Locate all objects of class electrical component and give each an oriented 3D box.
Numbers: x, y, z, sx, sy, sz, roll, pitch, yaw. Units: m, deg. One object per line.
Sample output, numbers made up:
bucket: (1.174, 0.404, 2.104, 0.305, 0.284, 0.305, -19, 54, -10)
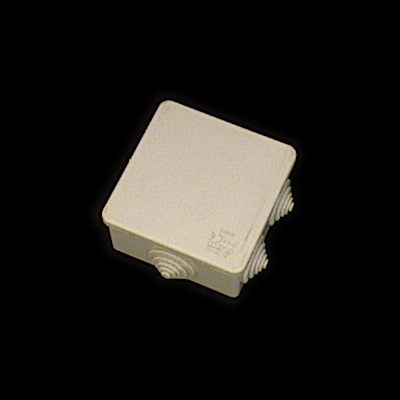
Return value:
electrical component: (0.000, 0.000, 0.639, 0.099, 0.100, 0.048, 22, -24, 10)
